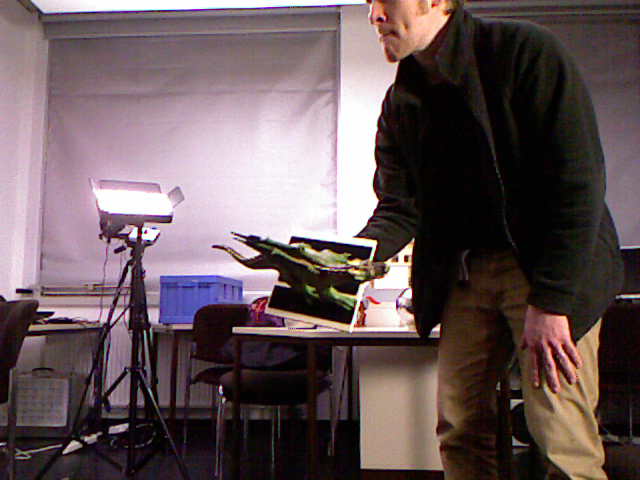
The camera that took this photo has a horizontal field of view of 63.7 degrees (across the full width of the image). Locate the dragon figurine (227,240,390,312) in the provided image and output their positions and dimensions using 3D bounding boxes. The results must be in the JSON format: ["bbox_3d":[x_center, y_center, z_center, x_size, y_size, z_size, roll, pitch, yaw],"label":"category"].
[{"bbox_3d":[-0.061,0.037,0.987,0.412,0.124,0.240,8,-18,24],"label":"dragon figurine"}]
